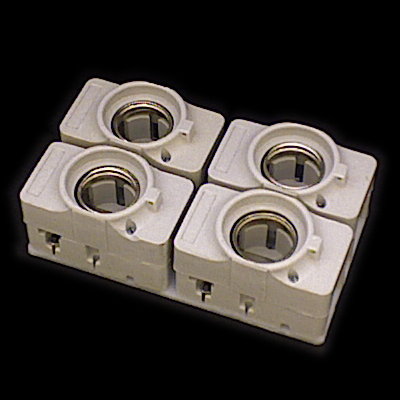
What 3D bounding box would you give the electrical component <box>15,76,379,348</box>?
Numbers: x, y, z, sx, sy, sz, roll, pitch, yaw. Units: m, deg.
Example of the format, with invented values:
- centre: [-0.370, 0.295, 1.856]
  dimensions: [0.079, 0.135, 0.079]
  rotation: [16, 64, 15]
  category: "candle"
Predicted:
- centre: [0.000, 0.000, 0.628]
  dimensions: [0.186, 0.105, 0.060]
  rotation: [17, -36, 12]
  category: "electrical component"
